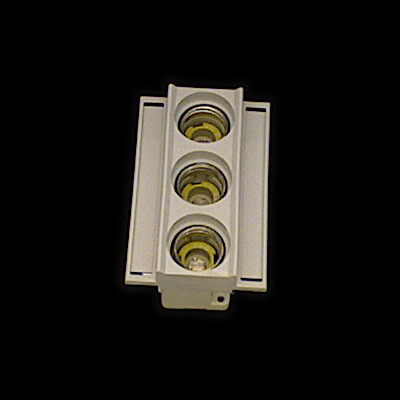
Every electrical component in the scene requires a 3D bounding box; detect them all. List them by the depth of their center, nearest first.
[{"bbox_3d":[0.000,0.000,0.638,0.079,0.121,0.063,3,-27,0],"label":"electrical component"}]
